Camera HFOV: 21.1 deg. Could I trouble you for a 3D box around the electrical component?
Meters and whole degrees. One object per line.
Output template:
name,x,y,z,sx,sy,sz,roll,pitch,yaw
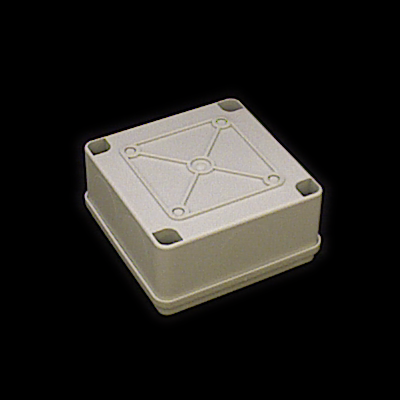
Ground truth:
electrical component,0.000,0.000,0.634,0.109,0.057,0.107,-19,45,-22
